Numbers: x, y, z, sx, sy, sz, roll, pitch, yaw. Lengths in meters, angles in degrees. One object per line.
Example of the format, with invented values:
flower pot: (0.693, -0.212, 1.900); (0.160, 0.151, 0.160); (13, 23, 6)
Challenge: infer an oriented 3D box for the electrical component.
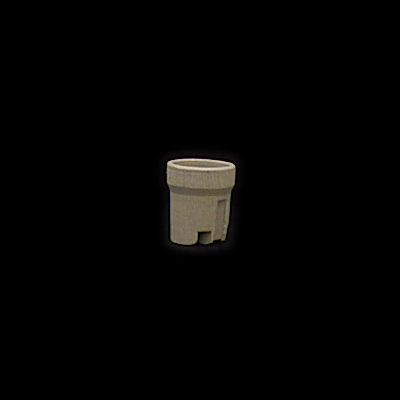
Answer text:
electrical component: (0.000, 0.000, 0.643); (0.040, 0.046, 0.040); (1, 11, 0)
